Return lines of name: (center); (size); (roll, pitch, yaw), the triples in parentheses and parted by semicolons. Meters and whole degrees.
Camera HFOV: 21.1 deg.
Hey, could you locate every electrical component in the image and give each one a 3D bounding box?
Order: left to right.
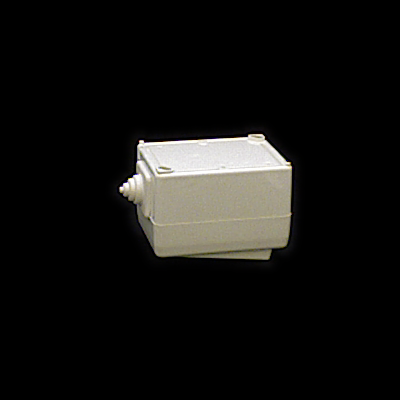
electrical component: (0.000, 0.000, 0.635); (0.096, 0.061, 0.061); (-4, 22, -14)
